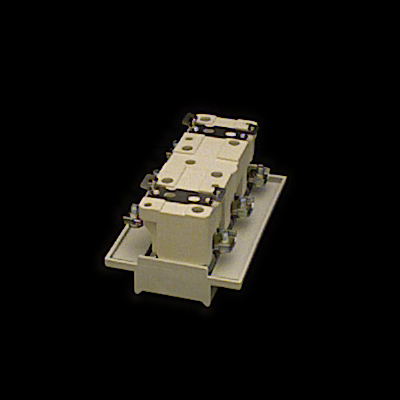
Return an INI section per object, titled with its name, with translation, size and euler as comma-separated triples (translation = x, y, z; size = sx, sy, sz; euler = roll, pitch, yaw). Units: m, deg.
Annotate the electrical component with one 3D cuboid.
[electrical component]
translation = 0.000, 0.000, 0.641
size = 0.078, 0.064, 0.120
euler = 10, 33, 12
